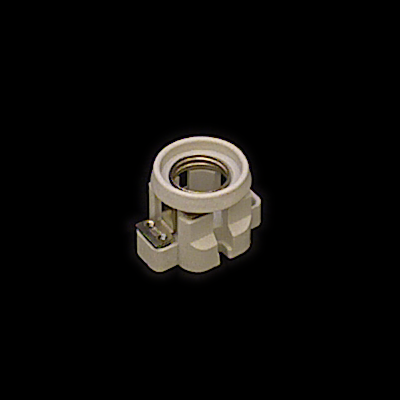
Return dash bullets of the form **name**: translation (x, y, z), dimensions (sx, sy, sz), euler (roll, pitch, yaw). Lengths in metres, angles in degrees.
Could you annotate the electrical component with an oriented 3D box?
- **electrical component**: translation (0.000, 0.000, 0.630), dimensions (0.078, 0.057, 0.057), euler (-25, 48, -25)
